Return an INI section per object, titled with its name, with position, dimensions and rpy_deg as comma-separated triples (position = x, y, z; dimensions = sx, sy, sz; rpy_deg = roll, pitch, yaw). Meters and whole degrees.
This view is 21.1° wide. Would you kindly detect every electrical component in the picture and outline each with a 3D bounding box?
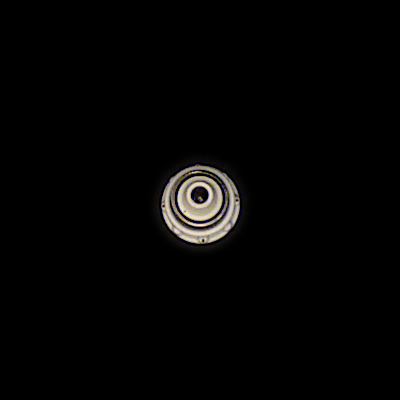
[electrical component]
position = 0.000, 0.000, 0.635
dimensions = 0.048, 0.048, 0.061
rpy_deg = 0, -6, 0
